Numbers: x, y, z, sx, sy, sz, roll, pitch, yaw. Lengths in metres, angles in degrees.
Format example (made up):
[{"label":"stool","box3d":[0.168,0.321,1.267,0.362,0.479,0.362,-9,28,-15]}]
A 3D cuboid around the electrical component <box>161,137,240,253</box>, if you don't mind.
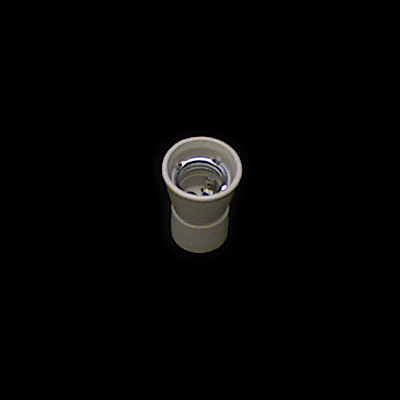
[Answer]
[{"label":"electrical component","box3d":[0.000,0.000,0.626,0.044,0.044,0.065,0,-37,-2]}]
